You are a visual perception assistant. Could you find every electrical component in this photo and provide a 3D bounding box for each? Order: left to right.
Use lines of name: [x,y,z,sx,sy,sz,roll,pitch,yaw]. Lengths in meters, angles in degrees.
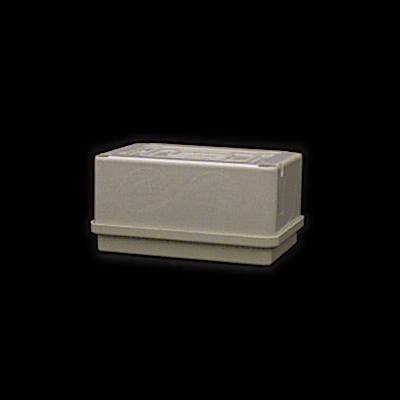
electrical component: [0.000,0.000,0.644,0.113,0.057,0.078,4,11,17]
